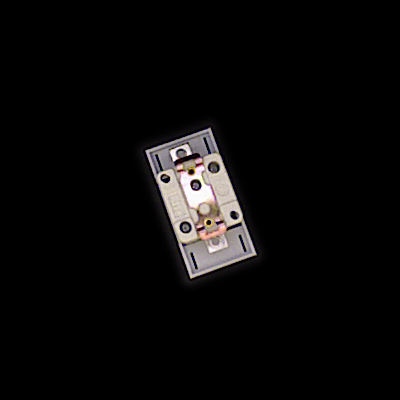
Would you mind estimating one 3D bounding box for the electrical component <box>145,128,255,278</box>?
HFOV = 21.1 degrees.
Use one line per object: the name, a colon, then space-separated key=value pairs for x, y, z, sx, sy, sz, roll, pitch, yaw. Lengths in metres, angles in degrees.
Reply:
electrical component: x=0.000 y=0.000 z=0.626 sx=0.042 sy=0.081 sz=0.063 roll=-20 pitch=-6 yaw=-2
